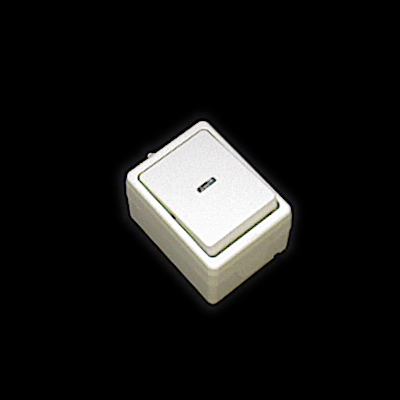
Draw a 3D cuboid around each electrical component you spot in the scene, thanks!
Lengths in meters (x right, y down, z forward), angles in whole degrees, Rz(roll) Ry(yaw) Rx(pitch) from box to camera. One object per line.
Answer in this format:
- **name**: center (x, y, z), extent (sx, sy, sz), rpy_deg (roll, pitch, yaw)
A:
- **electrical component**: center (0.000, 0.000, 0.627), extent (0.062, 0.096, 0.061), rpy_deg (-37, -22, -17)
